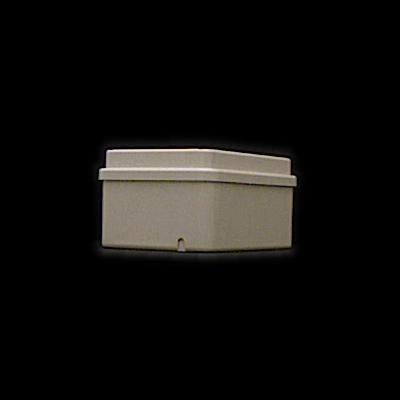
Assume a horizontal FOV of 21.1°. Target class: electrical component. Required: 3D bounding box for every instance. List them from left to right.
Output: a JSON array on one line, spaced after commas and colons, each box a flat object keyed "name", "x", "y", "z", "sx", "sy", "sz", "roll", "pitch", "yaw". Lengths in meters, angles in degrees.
[{"name": "electrical component", "x": 0.000, "y": 0.000, "z": 0.651, "sx": 0.078, "sy": 0.057, "sz": 0.114, "roll": 1, "pitch": 0, "yaw": 31}]
